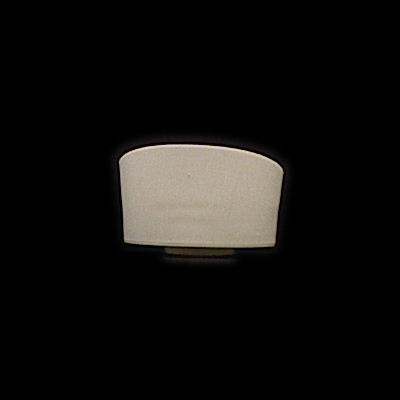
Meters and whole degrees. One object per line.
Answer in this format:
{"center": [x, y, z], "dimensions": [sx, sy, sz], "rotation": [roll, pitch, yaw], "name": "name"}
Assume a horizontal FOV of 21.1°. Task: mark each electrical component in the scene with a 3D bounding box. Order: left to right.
{"center": [0.000, 0.000, 0.649], "dimensions": [0.099, 0.064, 0.099], "rotation": [2, 1, 0], "name": "electrical component"}
